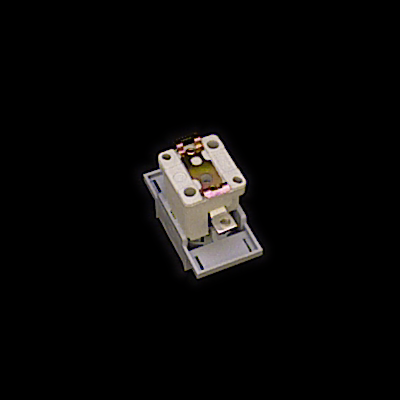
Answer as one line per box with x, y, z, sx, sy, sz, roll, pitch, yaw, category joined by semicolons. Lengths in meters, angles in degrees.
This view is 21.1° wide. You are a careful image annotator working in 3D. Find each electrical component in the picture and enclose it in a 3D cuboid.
0.000;0.000;0.627;0.042;0.080;0.064;-20;-34;-15;electrical component
